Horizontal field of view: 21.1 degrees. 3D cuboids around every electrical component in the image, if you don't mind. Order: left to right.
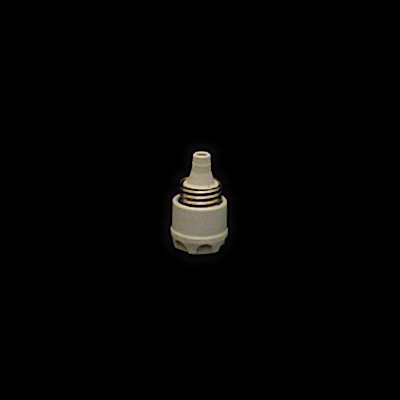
[{"bbox_3d":[0.000,0.000,0.653,0.035,0.062,0.034,2,23,-1],"label":"electrical component"}]
